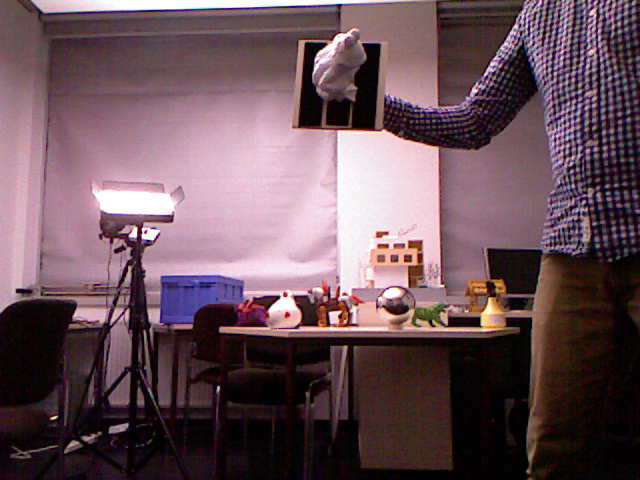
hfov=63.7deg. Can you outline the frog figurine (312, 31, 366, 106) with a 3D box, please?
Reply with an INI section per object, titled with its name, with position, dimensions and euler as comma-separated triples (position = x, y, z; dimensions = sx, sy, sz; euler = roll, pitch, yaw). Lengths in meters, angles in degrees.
[frog figurine]
position = 0.036, -0.372, 1.098
dimensions = 0.123, 0.139, 0.158
euler = 18, -8, 11
